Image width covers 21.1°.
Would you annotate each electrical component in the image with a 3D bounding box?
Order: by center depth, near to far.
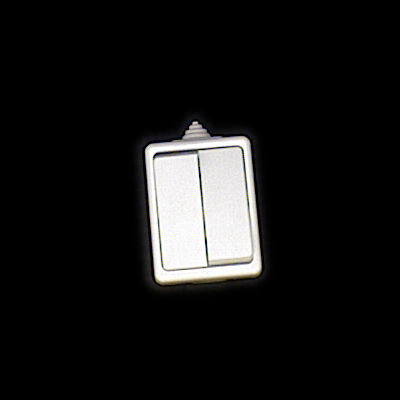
[{"bbox_3d":[0.000,0.000,0.627,0.062,0.096,0.061,-5,-7,0],"label":"electrical component"}]
